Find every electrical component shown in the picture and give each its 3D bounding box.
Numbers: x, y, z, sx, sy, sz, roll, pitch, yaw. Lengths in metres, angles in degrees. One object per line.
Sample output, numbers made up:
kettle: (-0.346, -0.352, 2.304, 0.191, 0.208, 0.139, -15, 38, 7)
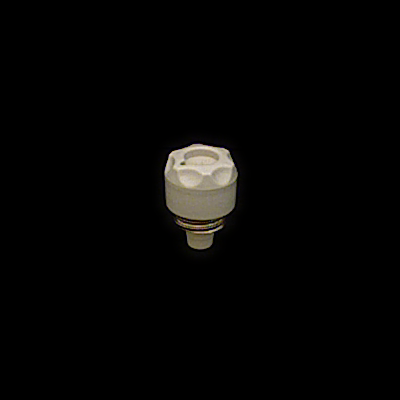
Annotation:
electrical component: (0.000, 0.000, 0.643, 0.043, 0.063, 0.043, 1, 31, 0)
